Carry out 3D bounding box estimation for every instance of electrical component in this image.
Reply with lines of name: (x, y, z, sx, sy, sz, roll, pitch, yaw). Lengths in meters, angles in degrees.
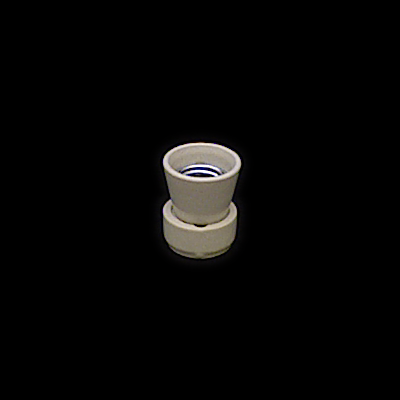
electrical component: (0.000, 0.000, 0.637, 0.045, 0.056, 0.044, 1, 32, -1)
